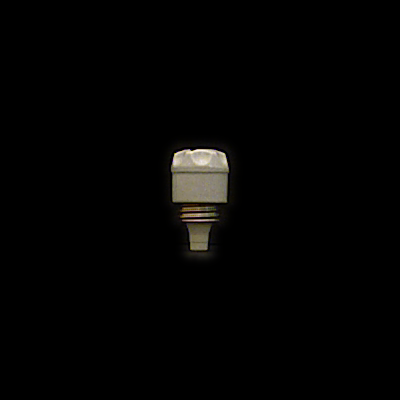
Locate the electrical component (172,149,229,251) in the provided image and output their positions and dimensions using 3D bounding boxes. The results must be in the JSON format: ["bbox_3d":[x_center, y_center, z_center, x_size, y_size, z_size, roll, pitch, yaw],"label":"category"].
[{"bbox_3d":[0.000,0.000,0.655,0.035,0.061,0.035,1,2,1],"label":"electrical component"}]
